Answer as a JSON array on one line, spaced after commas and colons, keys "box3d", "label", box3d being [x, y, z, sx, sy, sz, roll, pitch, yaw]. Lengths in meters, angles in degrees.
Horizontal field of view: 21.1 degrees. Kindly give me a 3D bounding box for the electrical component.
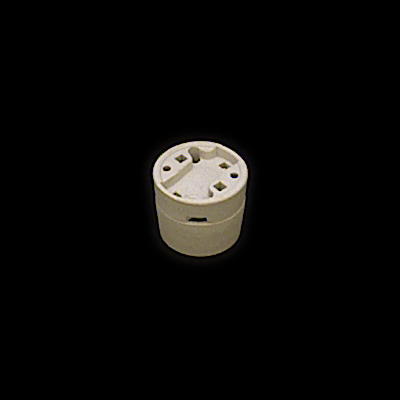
[{"box3d": [0.000, 0.000, 0.635, 0.055, 0.047, 0.055, 1, 42, 0], "label": "electrical component"}]
